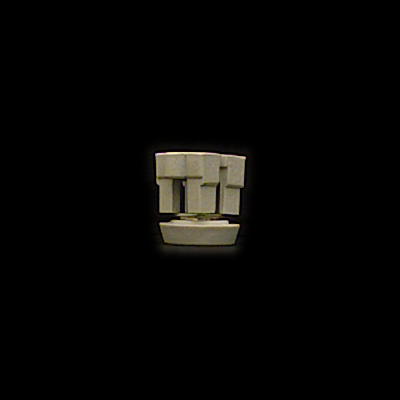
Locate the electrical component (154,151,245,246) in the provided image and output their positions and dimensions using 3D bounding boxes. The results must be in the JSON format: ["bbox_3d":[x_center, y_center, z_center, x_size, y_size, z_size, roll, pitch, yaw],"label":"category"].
[{"bbox_3d":[0.000,0.000,0.655,0.048,0.055,0.067,1,0,39],"label":"electrical component"}]
